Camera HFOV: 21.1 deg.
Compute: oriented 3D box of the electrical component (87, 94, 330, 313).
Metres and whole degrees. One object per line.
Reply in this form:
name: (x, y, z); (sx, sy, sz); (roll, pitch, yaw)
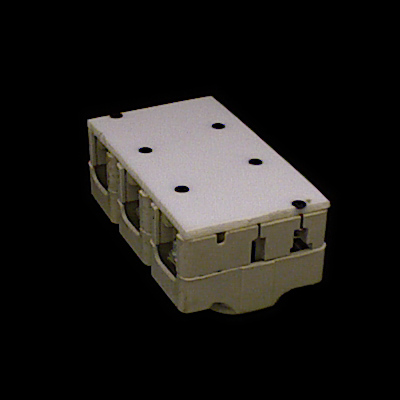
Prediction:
electrical component: (0.000, 0.000, 0.642); (0.089, 0.063, 0.147); (-12, 33, -22)
